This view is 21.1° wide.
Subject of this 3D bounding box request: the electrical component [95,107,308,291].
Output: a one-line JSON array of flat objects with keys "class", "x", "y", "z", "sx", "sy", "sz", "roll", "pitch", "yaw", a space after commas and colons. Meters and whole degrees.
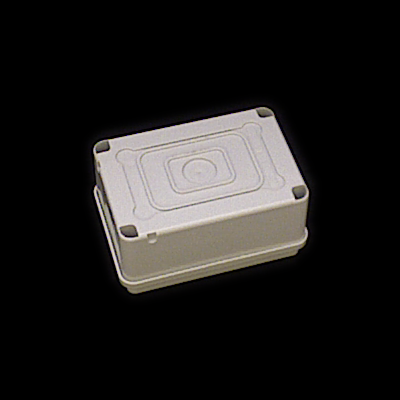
[{"class": "electrical component", "x": 0.000, "y": 0.000, "z": 0.630, "sx": 0.113, "sy": 0.077, "sz": 0.057, "roll": -12, "pitch": -37, "yaw": -11}]
